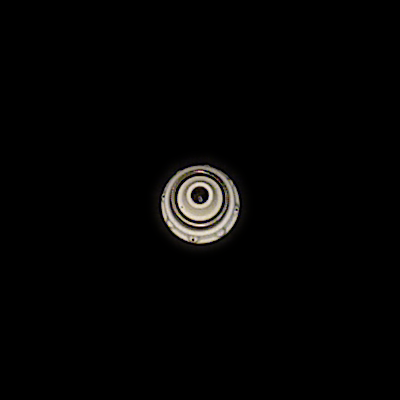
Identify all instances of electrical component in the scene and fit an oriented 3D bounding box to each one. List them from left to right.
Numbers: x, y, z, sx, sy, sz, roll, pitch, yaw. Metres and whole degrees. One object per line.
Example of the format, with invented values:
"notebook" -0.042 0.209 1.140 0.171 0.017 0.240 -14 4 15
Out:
"electrical component" 0.000 0.000 0.635 0.048 0.048 0.061 0 -6 0
